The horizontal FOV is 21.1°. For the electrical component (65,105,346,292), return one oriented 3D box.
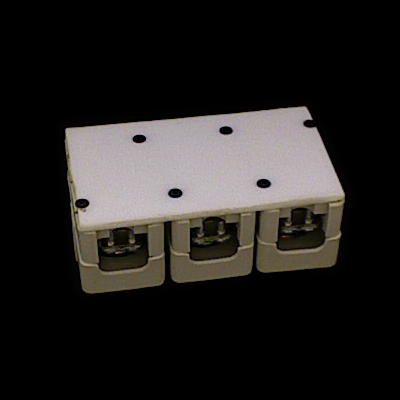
[{"bbox_3d":[0.000,0.000,0.639,0.150,0.063,0.087,-6,42,-8],"label":"electrical component"}]
